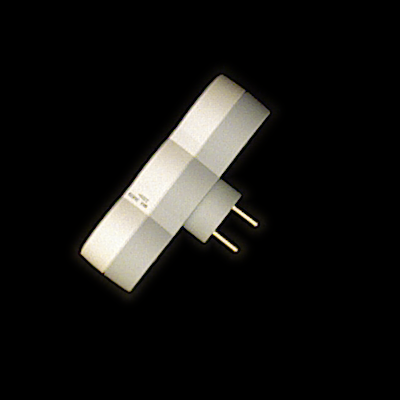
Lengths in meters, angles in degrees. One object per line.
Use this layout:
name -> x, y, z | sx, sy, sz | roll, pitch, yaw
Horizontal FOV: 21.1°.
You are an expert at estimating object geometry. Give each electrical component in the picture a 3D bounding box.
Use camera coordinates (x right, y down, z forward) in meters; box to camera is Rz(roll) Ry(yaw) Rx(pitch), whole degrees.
electrical component -> 0.000, 0.000, 0.639 | 0.074, 0.138, 0.052 | 38, -5, 2
